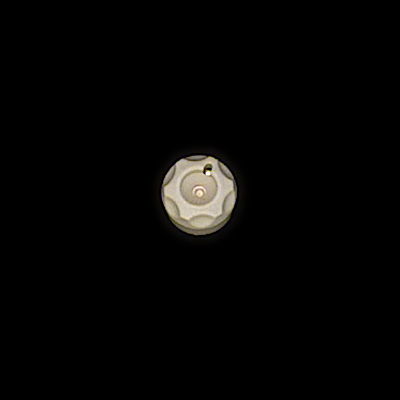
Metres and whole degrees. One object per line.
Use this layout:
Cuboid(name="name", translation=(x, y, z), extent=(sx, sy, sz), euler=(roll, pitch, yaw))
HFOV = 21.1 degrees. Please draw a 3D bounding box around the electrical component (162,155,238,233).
Cuboid(name="electrical component", translation=(0.000, 0.000, 0.633), extent=(0.043, 0.043, 0.061), euler=(0, -15, 0))
